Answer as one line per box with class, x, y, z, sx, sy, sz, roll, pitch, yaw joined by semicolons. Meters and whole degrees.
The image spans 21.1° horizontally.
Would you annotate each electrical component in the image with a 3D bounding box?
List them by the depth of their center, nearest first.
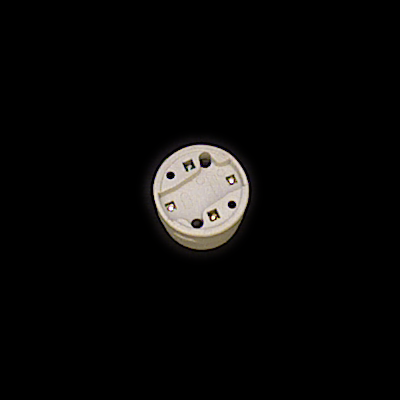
electrical component;0.000;0.000;0.635;0.055;0.056;0.047;0;-17;0
